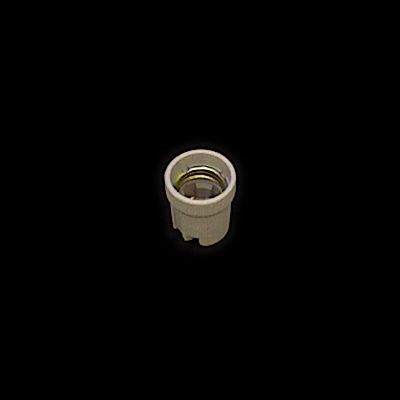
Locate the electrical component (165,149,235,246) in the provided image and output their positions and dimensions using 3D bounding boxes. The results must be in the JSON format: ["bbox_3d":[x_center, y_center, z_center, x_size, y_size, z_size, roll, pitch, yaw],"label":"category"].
[{"bbox_3d":[0.000,0.000,0.629,0.040,0.040,0.046,0,-38,-1],"label":"electrical component"}]
